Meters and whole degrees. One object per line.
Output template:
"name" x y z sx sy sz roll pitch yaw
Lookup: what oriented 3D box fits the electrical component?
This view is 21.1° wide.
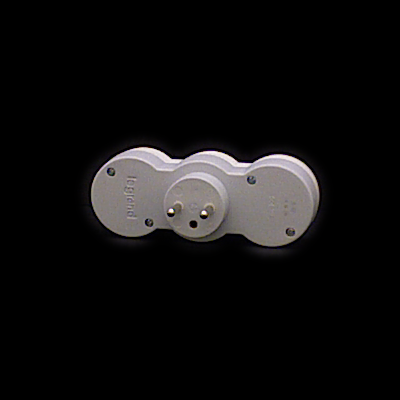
"electrical component" 0.000 0.000 0.645 0.138 0.052 0.073 4 13 11
